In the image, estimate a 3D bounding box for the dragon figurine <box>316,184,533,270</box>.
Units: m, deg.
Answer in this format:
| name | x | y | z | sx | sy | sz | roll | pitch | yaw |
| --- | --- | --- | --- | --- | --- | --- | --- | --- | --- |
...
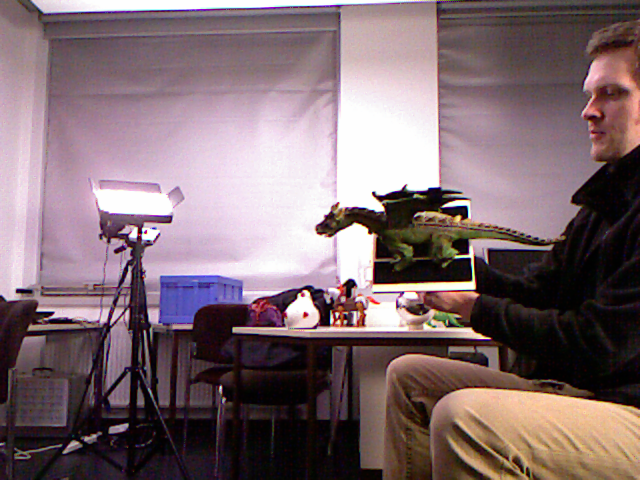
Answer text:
| name | x | y | z | sx | sy | sz | roll | pitch | yaw |
| --- | --- | --- | --- | --- | --- | --- | --- | --- | --- |
| dragon figurine | 0.199 | -0.035 | 0.963 | 0.411 | 0.125 | 0.240 | -6 | -20 | 9 |
